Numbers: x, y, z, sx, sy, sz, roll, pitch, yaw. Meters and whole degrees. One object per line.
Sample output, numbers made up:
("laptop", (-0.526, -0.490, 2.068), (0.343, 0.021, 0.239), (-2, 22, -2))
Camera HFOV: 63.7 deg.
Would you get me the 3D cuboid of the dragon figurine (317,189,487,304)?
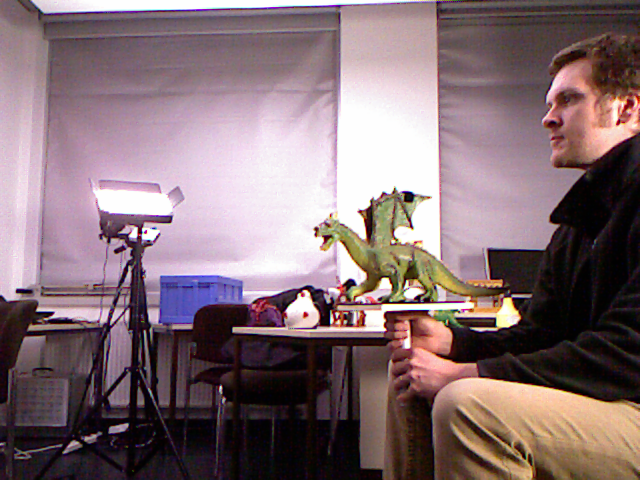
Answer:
("dragon figurine", (0.178, 0.010, 1.092), (0.411, 0.244, 0.121), (0, -4, -24))
